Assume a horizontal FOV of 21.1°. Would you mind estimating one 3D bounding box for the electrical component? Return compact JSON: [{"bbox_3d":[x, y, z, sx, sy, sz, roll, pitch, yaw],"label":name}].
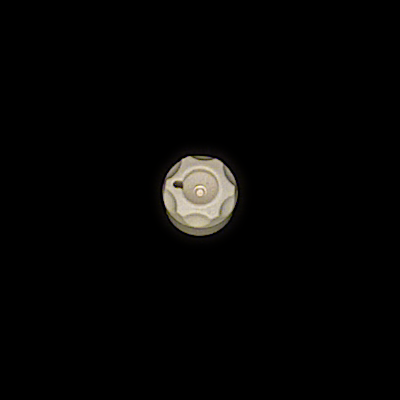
[{"bbox_3d":[0.000,0.000,0.634,0.043,0.043,0.061,0,-16,-1],"label":"electrical component"}]
